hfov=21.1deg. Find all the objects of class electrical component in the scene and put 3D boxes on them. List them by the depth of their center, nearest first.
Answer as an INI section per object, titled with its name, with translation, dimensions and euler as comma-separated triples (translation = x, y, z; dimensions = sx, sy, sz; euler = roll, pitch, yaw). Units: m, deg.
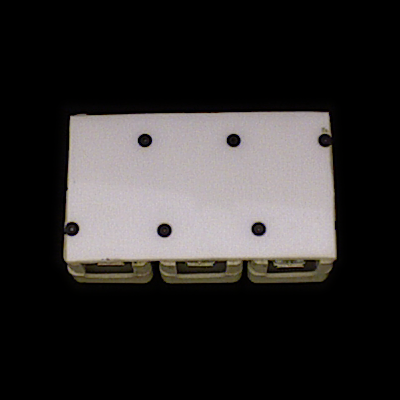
[electrical component]
translation = 0.000, 0.000, 0.630
dimensions = 0.150, 0.089, 0.062
euler = 0, -17, 0
